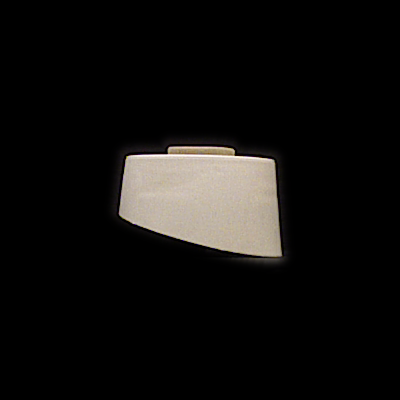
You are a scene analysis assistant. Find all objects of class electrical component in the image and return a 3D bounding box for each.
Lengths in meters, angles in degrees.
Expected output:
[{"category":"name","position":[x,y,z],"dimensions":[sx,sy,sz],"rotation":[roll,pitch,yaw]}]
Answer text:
[{"category":"electrical component","position":[0.000,0.000,0.649],"dimensions":[0.099,0.064,0.099],"rotation":[2,0,0]}]
